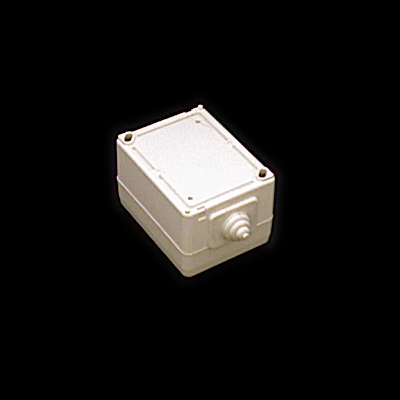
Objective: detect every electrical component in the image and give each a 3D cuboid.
[{"bbox_3d":[0.000,0.000,0.629,0.062,0.061,0.095,-23,48,-24],"label":"electrical component"}]
